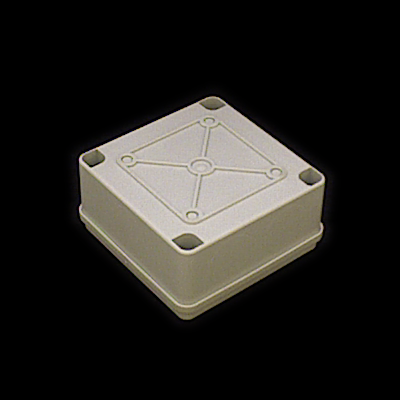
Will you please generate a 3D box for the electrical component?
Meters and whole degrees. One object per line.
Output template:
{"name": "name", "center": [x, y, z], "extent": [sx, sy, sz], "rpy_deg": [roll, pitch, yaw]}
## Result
{"name": "electrical component", "center": [0.000, 0.000, 0.633], "extent": [0.108, 0.057, 0.108], "rpy_deg": [-27, 50, -28]}
